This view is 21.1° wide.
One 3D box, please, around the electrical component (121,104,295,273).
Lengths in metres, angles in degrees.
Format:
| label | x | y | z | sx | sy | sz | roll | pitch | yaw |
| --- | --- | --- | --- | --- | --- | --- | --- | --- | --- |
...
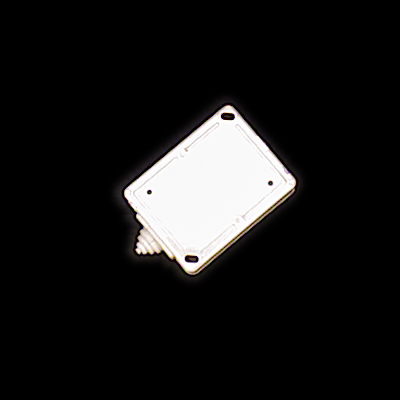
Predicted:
| label | x | y | z | sx | sy | sz | roll | pitch | yaw |
| --- | --- | --- | --- | --- | --- | --- | --- | --- | --- |
| electrical component | 0.000 | 0.000 | 0.629 | 0.096 | 0.062 | 0.061 | -40 | -5 | -3 |
